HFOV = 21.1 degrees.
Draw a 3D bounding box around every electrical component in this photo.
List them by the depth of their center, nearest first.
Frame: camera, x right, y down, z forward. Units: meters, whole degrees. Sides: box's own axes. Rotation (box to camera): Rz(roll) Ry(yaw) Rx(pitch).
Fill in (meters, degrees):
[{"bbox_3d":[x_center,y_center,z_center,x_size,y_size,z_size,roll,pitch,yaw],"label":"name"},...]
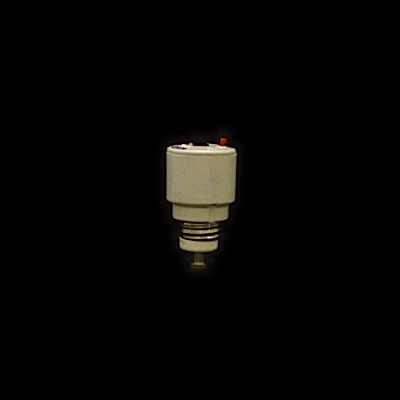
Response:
[{"bbox_3d":[0.000,0.000,0.643,0.040,0.079,0.040,2,11,0],"label":"electrical component"}]
